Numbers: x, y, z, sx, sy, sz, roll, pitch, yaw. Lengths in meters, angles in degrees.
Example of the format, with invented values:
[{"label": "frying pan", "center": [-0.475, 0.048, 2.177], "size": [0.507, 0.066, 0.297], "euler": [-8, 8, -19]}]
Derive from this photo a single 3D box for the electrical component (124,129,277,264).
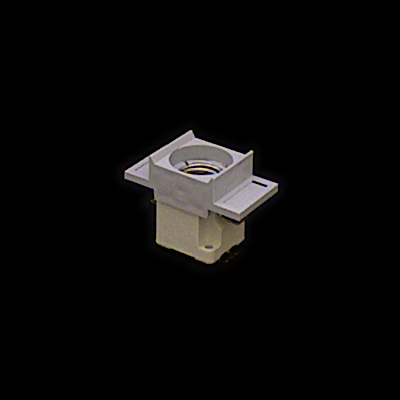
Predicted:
[{"label": "electrical component", "center": [0.000, 0.000, 0.634], "size": [0.080, 0.064, 0.042], "euler": [21, 38, 28]}]
